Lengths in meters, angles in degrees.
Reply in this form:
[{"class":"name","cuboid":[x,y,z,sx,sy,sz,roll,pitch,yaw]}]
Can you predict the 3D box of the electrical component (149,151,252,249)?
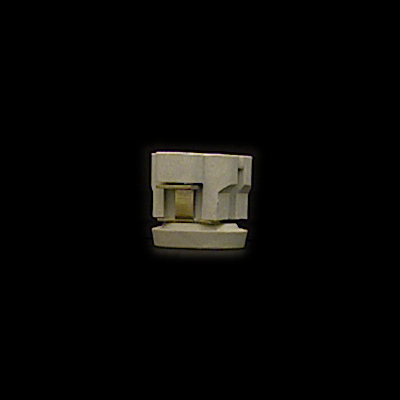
[{"class":"electrical component","cuboid":[0.000,0.000,0.655,0.057,0.057,0.079,3,3,25]}]
